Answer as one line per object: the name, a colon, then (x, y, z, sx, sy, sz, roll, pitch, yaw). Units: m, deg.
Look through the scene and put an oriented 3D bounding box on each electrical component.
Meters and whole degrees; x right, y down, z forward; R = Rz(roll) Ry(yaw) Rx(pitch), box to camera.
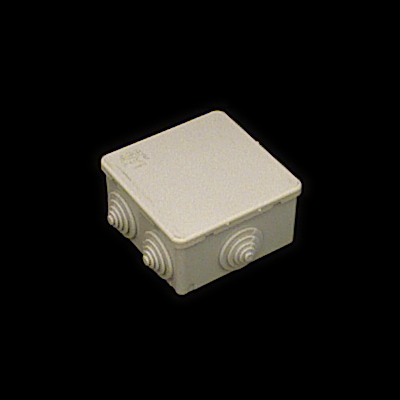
electrical component: (0.000, 0.000, 0.641, 0.100, 0.049, 0.098, -24, 48, -25)
